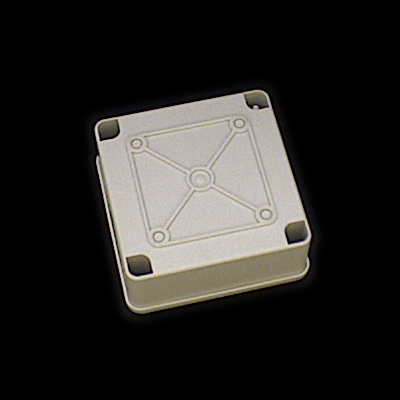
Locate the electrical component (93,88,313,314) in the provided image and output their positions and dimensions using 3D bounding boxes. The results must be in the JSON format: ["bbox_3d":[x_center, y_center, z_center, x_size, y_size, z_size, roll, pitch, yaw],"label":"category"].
[{"bbox_3d":[0.000,0.000,0.629,0.109,0.108,0.056,-11,-27,-7],"label":"electrical component"}]
